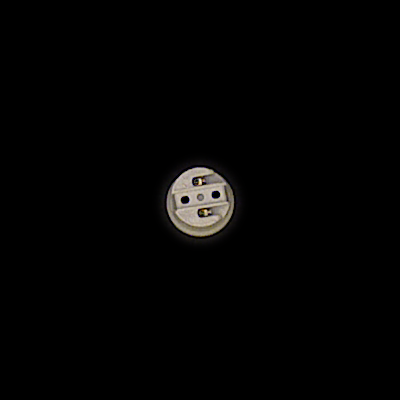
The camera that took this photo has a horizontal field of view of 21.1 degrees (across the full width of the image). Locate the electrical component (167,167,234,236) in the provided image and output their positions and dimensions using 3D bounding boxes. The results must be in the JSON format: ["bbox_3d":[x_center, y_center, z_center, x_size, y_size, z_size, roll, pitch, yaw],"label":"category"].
[{"bbox_3d":[0.000,0.000,0.634,0.040,0.040,0.046,0,-6,0],"label":"electrical component"}]
